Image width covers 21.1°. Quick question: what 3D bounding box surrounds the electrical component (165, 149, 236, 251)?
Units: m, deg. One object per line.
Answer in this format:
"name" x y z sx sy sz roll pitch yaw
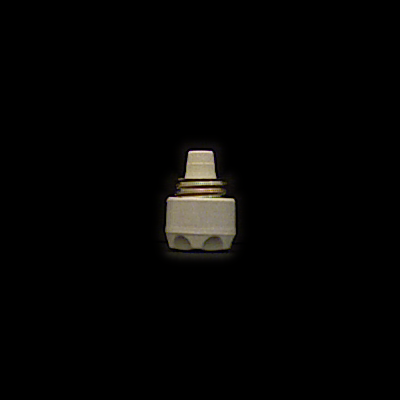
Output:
"electrical component" 0.000 0.000 0.657 0.043 0.062 0.043 0 1 1
